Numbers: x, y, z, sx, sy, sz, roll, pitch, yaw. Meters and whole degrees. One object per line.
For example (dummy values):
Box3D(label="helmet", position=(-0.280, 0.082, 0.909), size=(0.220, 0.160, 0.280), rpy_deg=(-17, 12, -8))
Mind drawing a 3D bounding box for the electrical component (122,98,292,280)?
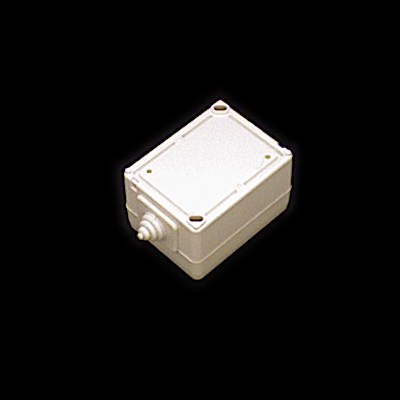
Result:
Box3D(label="electrical component", position=(0.000, 0.000, 0.629), size=(0.096, 0.061, 0.061), rpy_deg=(-38, 61, -25))
